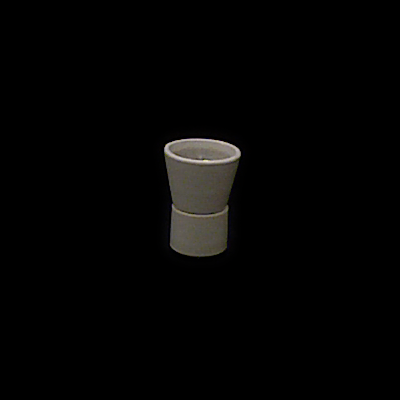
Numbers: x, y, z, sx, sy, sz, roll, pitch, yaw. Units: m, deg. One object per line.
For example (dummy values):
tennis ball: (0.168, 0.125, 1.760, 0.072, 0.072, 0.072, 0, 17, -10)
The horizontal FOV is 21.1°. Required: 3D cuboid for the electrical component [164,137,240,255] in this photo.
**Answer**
electrical component: (0.000, 0.000, 0.639, 0.044, 0.066, 0.044, 2, 21, -1)
